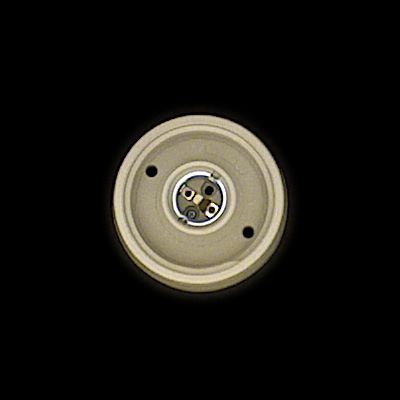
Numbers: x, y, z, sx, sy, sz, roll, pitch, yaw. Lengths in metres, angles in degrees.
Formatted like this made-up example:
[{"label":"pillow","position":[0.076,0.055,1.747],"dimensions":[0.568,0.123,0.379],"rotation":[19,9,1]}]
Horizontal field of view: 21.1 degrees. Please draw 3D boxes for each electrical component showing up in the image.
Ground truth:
[{"label":"electrical component","position":[0.000,0.000,0.634],"dimensions":[0.108,0.108,0.060],"rotation":[0,-6,0]}]
